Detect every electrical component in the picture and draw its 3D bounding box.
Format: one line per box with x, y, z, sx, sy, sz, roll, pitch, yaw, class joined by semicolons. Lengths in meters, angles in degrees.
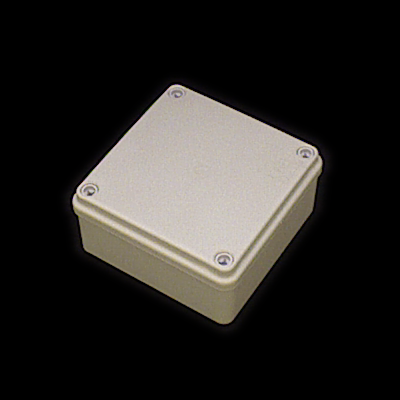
0.000;0.000;0.630;0.108;0.109;0.056;27;-33;19;electrical component
